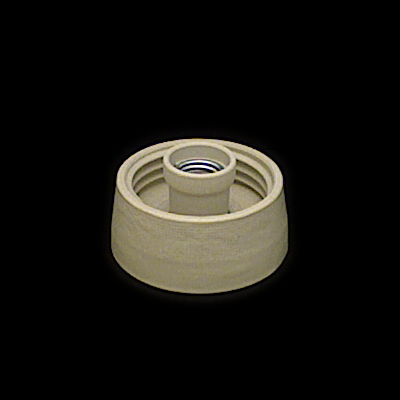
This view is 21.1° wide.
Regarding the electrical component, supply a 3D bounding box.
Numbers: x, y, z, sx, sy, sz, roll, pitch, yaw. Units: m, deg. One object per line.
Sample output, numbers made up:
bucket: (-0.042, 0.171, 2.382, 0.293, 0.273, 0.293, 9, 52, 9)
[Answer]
electrical component: (0.000, 0.000, 0.640, 0.108, 0.061, 0.106, 1, 32, 0)
